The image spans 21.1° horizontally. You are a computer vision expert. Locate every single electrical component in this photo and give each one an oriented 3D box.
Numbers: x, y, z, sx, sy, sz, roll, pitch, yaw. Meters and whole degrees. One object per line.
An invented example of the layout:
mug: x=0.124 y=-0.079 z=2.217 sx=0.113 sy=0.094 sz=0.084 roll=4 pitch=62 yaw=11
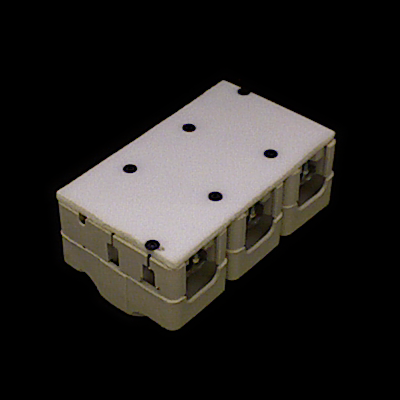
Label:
electrical component: x=0.000 y=0.000 z=0.639 sx=0.088 sy=0.063 sz=0.148 roll=30 pitch=49 yaw=29
